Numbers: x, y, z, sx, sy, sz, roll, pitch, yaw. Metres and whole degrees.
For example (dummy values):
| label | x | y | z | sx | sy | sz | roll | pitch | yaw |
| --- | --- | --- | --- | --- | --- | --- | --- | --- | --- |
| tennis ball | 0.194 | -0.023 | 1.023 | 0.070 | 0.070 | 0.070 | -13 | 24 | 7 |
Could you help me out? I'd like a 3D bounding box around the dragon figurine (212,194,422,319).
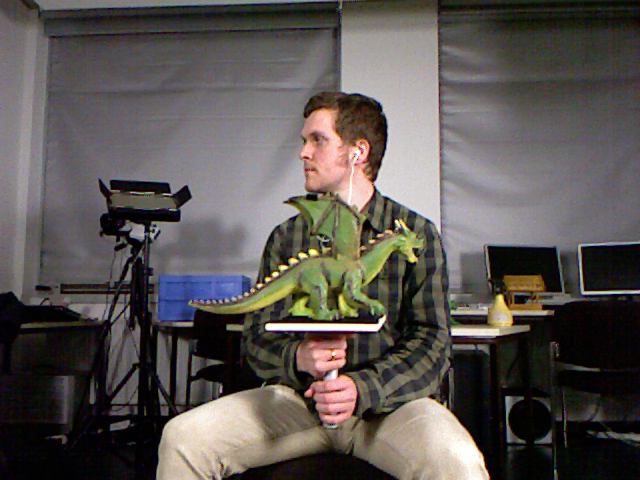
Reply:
| label | x | y | z | sx | sy | sz | roll | pitch | yaw |
| --- | --- | --- | --- | --- | --- | --- | --- | --- | --- |
| dragon figurine | -0.001 | 0.032 | 0.998 | 0.410 | 0.243 | 0.122 | 1 | -1 | -5 |
